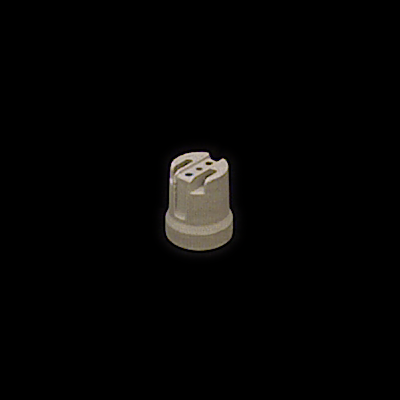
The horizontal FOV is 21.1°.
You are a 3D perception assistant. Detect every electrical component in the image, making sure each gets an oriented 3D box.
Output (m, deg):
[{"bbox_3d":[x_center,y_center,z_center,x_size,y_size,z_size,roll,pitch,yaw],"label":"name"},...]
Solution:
[{"bbox_3d":[0.000,0.000,0.638,0.040,0.046,0.040,1,31,0],"label":"electrical component"}]
